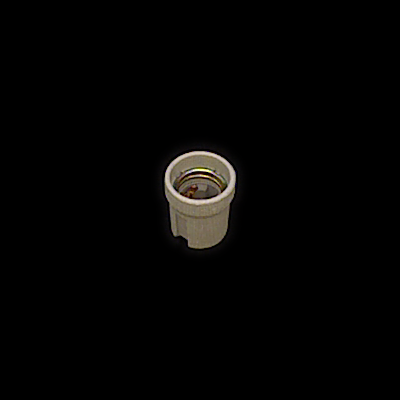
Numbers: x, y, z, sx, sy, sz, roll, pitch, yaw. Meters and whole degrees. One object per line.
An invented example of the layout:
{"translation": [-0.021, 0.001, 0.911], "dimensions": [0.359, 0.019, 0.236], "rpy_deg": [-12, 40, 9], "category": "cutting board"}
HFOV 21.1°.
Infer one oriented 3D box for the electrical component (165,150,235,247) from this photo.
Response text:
{"translation": [0.000, 0.000, 0.632], "dimensions": [0.040, 0.039, 0.047], "rpy_deg": [0, -38, -1], "category": "electrical component"}
